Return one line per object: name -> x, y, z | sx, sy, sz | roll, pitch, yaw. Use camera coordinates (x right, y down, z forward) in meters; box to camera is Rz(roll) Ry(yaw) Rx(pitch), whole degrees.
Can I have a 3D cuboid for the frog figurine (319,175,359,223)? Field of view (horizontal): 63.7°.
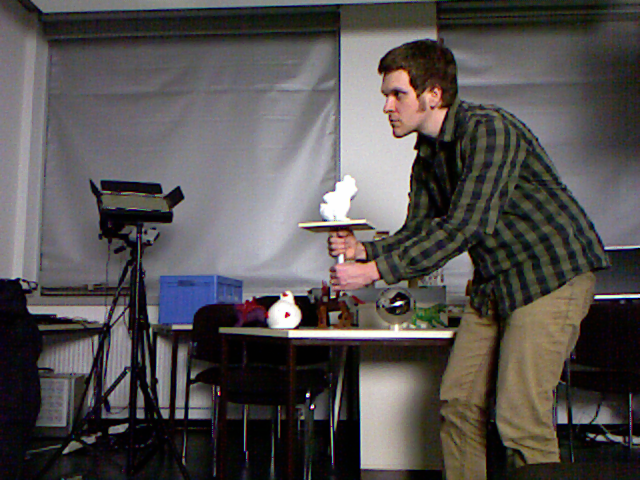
frog figurine -> 0.058, -0.125, 1.602 | 0.122, 0.160, 0.137 | -2, -3, 35
